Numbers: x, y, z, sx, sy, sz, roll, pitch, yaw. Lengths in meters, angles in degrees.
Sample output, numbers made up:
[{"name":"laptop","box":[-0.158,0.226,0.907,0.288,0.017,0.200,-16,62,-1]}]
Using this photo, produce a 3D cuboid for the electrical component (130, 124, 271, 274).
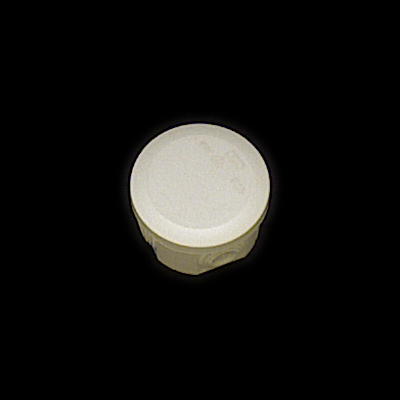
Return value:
[{"name":"electrical component","box":[0.000,0.000,0.629,0.080,0.080,0.050,0,-27,0]}]
